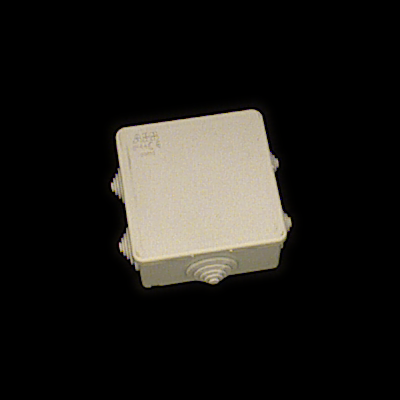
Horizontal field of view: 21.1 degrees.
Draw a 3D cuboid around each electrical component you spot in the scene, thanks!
[{"bbox_3d":[0.000,0.000,0.639,0.100,0.099,0.048,-8,-26,-4],"label":"electrical component"}]
